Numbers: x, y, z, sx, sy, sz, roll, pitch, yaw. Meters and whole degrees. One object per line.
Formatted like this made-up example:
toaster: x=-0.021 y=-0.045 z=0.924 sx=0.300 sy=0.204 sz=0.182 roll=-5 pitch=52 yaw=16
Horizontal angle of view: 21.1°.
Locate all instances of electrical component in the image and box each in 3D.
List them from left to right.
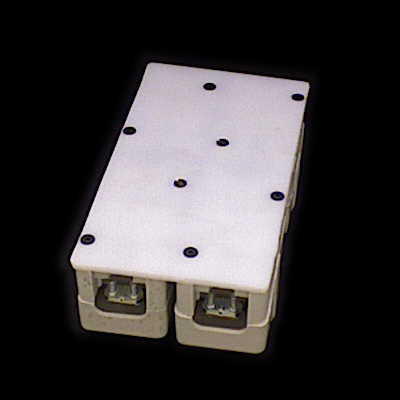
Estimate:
electrical component: x=0.000 y=0.000 z=0.630 sx=0.105 sy=0.061 sz=0.184 roll=8 pitch=42 yaw=7
